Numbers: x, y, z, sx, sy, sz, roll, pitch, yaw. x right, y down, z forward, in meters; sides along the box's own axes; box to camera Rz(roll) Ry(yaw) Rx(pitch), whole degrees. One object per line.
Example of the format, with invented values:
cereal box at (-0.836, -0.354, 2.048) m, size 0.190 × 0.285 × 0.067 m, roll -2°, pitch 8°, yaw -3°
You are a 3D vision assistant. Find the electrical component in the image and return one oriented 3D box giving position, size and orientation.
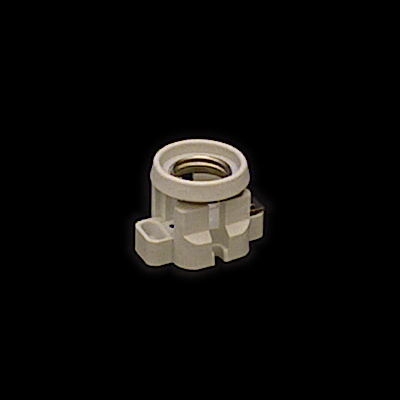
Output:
electrical component at (0.000, 0.000, 0.636) m, size 0.078 × 0.057 × 0.057 m, roll -14°, pitch 35°, yaw -24°
